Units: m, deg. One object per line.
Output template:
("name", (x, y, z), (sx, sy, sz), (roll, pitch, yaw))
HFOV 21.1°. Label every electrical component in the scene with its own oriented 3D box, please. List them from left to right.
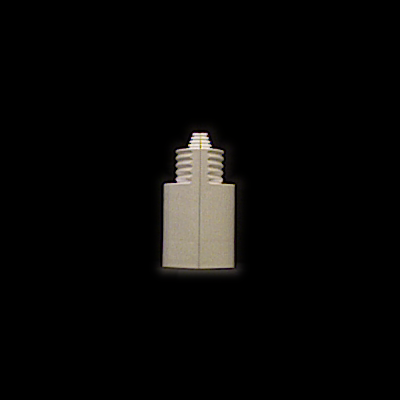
("electrical component", (0.000, 0.000, 0.650), (0.043, 0.081, 0.043), (1, 1, 0))
